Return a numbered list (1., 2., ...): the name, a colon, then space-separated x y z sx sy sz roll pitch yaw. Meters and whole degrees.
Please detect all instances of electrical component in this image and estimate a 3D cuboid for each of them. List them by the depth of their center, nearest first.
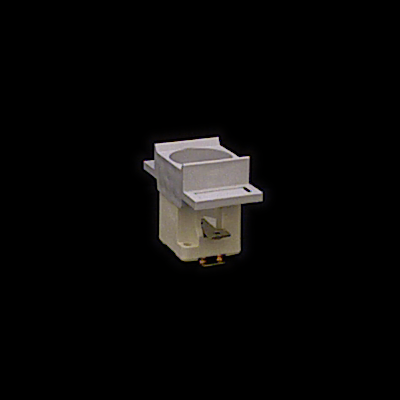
1. electrical component: 0.000 0.000 0.635 0.042 0.064 0.080 -7 22 -22
